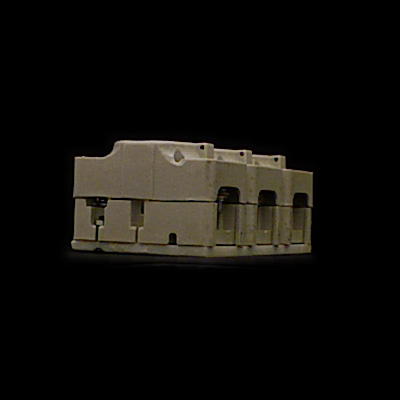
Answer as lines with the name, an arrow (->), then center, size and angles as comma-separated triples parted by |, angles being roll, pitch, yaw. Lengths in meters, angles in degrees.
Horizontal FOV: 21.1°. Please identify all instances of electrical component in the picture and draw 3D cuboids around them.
electrical component -> 0.000, 0.000, 0.657 | 0.089, 0.062, 0.150 | 2, 0, 27
